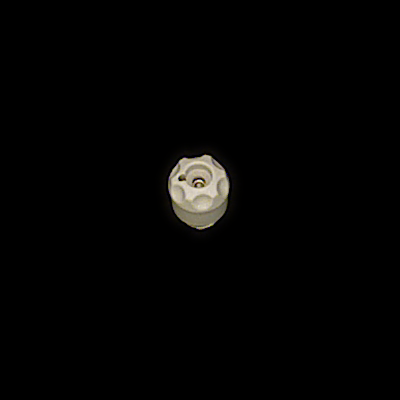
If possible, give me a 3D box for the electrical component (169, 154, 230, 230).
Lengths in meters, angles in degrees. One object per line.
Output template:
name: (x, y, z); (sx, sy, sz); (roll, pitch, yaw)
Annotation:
electrical component: (0.000, 0.000, 0.634); (0.035, 0.035, 0.061); (0, -27, 1)
